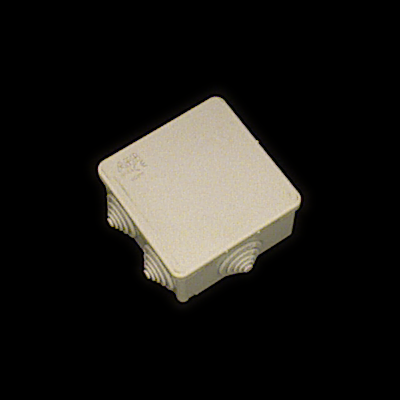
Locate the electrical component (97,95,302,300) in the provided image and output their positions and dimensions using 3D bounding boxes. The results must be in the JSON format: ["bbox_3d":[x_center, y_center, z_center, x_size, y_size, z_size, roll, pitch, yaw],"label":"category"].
[{"bbox_3d":[0.000,0.000,0.639,0.100,0.099,0.048,-31,-22,-15],"label":"electrical component"}]
